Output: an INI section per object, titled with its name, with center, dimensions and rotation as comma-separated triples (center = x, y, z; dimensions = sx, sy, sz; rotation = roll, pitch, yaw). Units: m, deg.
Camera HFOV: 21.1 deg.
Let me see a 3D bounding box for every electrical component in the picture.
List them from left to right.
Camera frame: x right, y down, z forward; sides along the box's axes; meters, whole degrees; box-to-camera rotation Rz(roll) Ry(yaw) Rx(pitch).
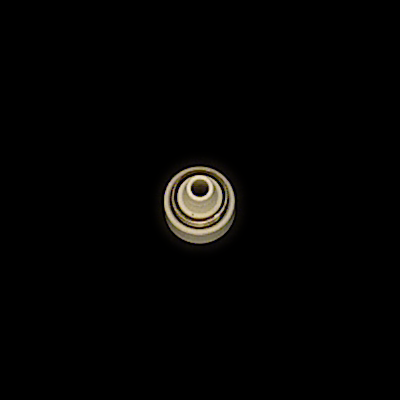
[electrical component]
center = 0.000, 0.000, 0.633
dimensions = 0.043, 0.043, 0.061
rotation = 0, -15, 0
